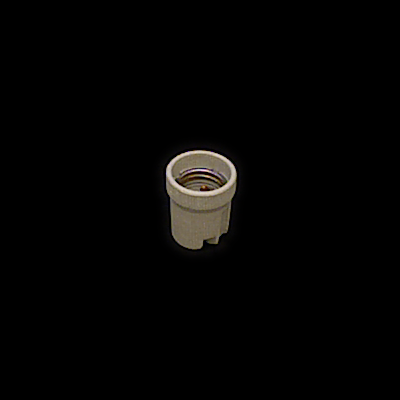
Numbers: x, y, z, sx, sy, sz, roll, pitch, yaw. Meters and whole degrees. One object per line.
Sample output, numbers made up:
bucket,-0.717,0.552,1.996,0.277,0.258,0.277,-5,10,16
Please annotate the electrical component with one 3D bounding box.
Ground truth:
electrical component,0.000,0.000,0.632,0.040,0.047,0.039,1,42,0
